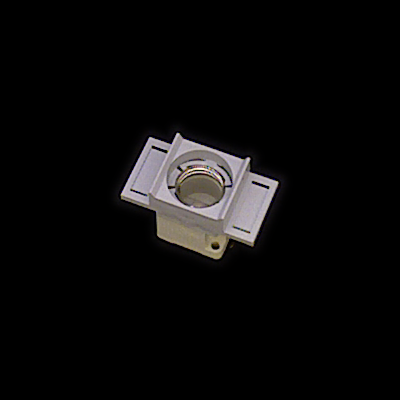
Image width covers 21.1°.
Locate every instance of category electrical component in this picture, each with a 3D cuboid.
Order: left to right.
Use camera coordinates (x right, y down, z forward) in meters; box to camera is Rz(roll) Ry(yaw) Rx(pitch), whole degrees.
[{"bbox_3d":[0.000,0.000,0.624,0.081,0.042,0.063,20,-27,10],"label":"electrical component"}]
